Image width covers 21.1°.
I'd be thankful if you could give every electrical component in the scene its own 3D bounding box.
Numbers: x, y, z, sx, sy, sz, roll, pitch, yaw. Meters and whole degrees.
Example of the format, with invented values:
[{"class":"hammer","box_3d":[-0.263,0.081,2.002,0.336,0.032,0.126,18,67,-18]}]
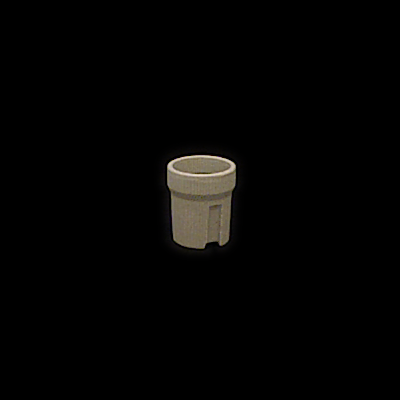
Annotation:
[{"class":"electrical component","box_3d":[0.000,0.000,0.642,0.040,0.047,0.039,1,21,0]}]
